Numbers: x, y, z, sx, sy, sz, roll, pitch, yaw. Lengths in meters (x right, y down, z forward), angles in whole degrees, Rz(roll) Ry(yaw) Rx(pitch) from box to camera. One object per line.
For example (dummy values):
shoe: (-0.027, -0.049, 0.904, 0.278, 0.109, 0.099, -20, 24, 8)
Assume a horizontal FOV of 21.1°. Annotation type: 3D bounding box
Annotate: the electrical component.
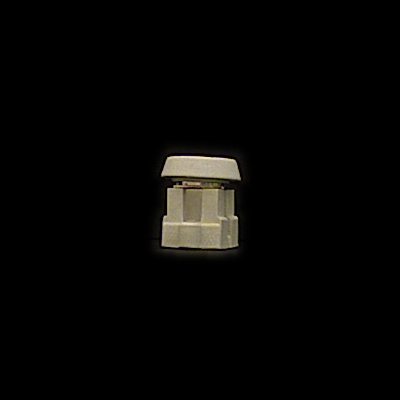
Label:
electrical component: (0.000, 0.000, 0.658, 0.048, 0.055, 0.067, 4, 2, 15)
